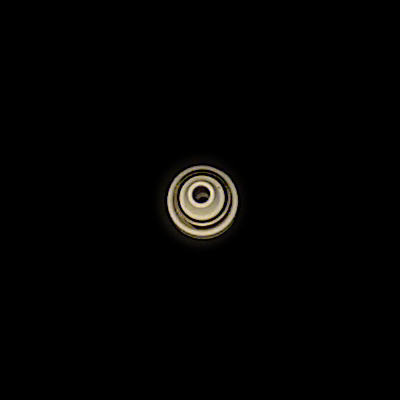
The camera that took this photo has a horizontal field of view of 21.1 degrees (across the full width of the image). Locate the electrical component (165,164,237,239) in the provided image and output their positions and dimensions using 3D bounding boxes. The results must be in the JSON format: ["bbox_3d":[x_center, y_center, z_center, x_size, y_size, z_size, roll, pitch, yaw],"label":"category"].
[{"bbox_3d":[0.000,0.000,0.635,0.043,0.043,0.062,0,-6,1],"label":"electrical component"}]
